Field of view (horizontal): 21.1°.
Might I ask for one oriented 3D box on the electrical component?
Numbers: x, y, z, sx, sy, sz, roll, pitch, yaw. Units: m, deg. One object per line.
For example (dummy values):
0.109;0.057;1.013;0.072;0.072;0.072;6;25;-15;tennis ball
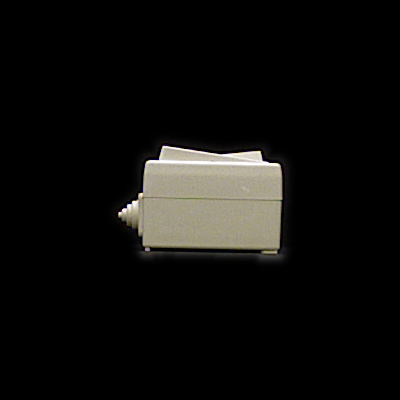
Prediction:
0.000;0.000;0.649;0.096;0.061;0.061;2;0;-3;electrical component
